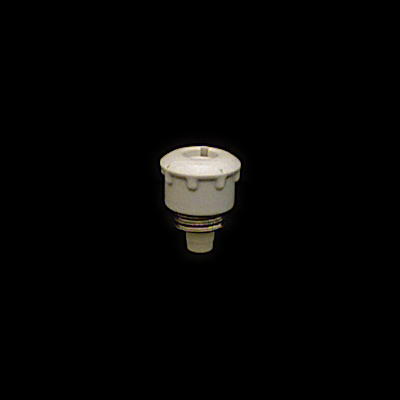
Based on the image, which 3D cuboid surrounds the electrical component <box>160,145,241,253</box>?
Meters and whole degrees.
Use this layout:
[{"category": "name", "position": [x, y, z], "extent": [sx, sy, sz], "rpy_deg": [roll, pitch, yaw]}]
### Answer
[{"category": "electrical component", "position": [0.000, 0.000, 0.646], "extent": [0.048, 0.063, 0.047], "rpy_deg": [1, 22, 0]}]
